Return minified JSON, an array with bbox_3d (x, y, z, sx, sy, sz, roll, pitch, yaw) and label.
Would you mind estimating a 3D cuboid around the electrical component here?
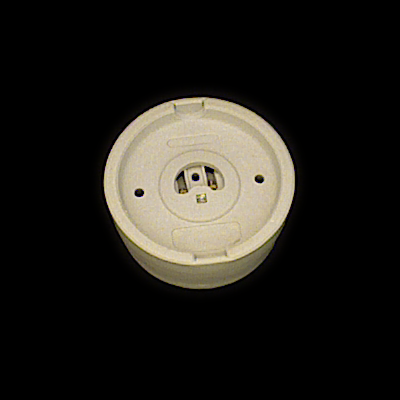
[{"bbox_3d":[0.000,0.000,0.632,0.108,0.108,0.060,0,-27,0],"label":"electrical component"}]
